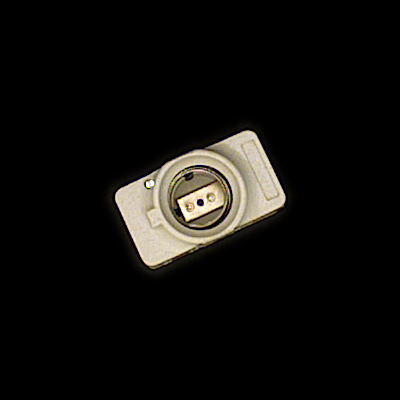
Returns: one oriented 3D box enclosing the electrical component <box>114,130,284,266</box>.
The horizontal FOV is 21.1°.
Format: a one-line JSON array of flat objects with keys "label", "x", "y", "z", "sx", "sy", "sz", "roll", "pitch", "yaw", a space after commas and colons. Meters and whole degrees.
[{"label": "electrical component", "x": 0.000, "y": 0.000, "z": 0.637, "sx": 0.090, "sy": 0.050, "sz": 0.055, "roll": -25, "pitch": -5, "yaw": -2}]
